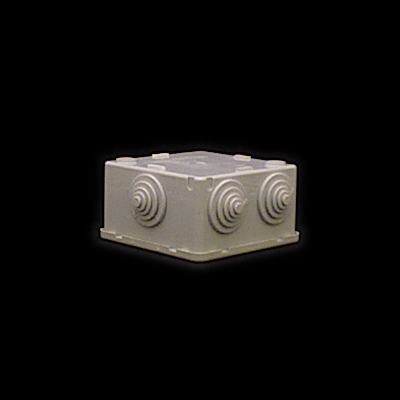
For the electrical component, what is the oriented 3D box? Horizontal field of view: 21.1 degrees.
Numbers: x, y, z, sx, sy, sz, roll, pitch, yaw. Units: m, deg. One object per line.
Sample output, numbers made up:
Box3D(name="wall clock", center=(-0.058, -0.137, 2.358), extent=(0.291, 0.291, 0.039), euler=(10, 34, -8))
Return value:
Box3D(name="electrical component", center=(0.000, 0.000, 0.644), extent=(0.100, 0.049, 0.099), euler=(-9, 15, -44))
